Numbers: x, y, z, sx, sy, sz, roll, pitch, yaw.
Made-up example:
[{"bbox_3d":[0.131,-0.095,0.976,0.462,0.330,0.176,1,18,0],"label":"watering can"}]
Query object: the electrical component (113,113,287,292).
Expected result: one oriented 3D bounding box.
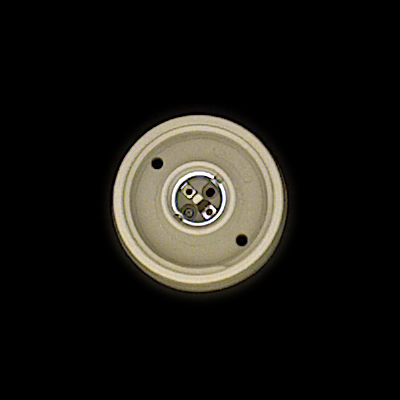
[{"bbox_3d":[0.000,0.000,0.635,0.108,0.108,0.060,0,-6,0],"label":"electrical component"}]
